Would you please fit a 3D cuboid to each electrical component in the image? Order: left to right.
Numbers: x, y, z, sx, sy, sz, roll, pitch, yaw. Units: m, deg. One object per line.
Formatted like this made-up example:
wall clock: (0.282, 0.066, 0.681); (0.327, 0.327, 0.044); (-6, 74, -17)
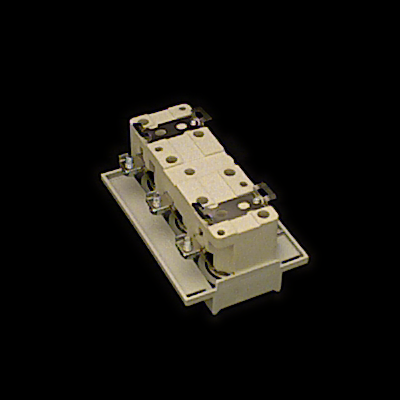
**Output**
electrical component: (0.000, 0.000, 0.639); (0.079, 0.063, 0.119); (-18, 46, -21)
